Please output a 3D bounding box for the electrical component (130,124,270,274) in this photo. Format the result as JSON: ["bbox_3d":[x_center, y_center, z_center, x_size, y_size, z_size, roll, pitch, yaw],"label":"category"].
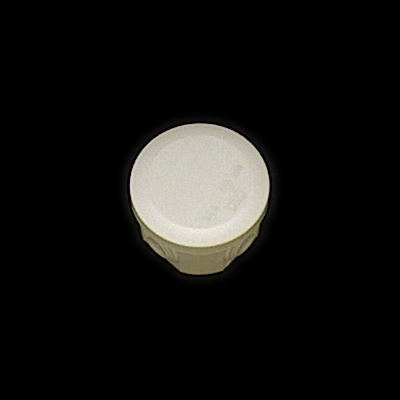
[{"bbox_3d":[0.000,0.000,0.629,0.080,0.080,0.050,0,-27,0],"label":"electrical component"}]
